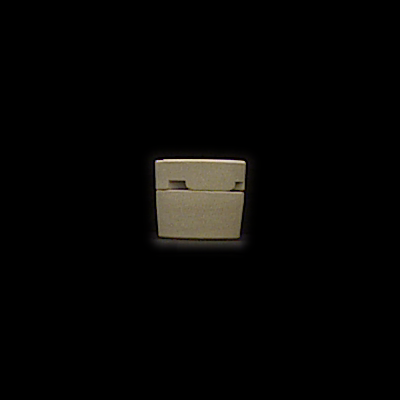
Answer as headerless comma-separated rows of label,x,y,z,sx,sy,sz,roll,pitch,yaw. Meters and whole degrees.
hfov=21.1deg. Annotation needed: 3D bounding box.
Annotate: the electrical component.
electrical component,0.000,0.000,0.649,0.055,0.047,0.055,1,0,0
